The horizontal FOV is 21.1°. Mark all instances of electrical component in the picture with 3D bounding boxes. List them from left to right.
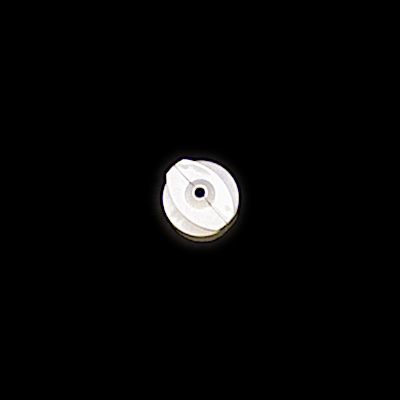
[{"bbox_3d":[0.000,0.000,0.616,0.043,0.043,0.080,0,-6,1],"label":"electrical component"}]
